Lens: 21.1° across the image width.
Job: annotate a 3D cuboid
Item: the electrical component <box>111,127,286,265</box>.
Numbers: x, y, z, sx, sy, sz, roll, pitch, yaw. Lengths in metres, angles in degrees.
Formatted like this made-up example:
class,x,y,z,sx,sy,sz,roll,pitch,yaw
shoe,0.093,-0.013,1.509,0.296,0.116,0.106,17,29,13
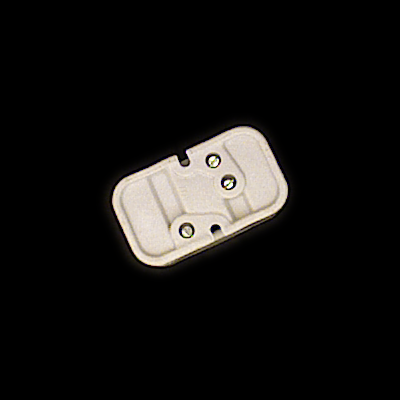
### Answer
class,x,y,z,sx,sy,sz,roll,pitch,yaw
electrical component,0.000,0.000,0.637,0.095,0.054,0.059,-25,-6,-2
